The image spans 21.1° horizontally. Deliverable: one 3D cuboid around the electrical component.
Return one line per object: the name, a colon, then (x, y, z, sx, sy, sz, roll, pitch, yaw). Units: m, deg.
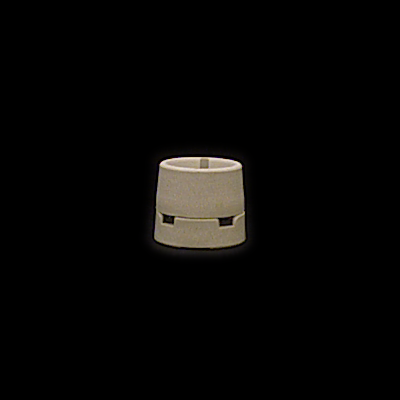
electrical component: (0.000, 0.000, 0.644, 0.055, 0.047, 0.055, 1, 12, 0)
